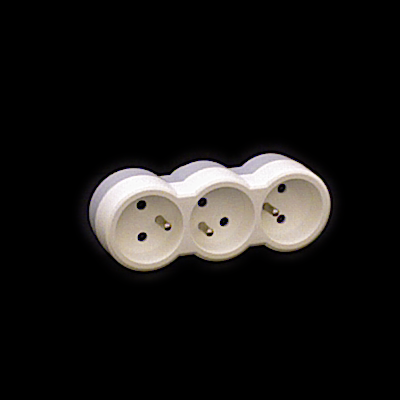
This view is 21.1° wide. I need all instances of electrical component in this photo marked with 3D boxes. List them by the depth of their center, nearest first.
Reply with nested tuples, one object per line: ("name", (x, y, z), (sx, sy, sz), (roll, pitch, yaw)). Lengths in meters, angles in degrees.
("electrical component", (0.000, 0.000, 0.639), (0.138, 0.053, 0.073), (-7, 20, -19))
